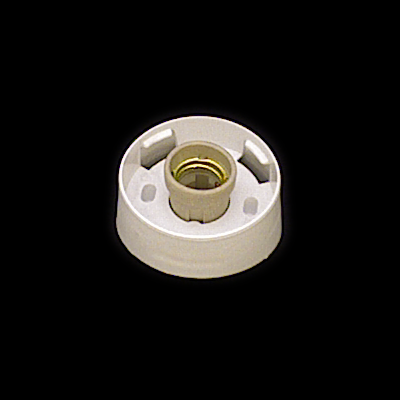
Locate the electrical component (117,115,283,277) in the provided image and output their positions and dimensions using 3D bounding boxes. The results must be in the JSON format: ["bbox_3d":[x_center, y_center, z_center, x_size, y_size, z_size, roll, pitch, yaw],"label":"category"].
[{"bbox_3d":[0.000,0.000,0.626,0.099,0.098,0.064,0,-38,-1],"label":"electrical component"}]
